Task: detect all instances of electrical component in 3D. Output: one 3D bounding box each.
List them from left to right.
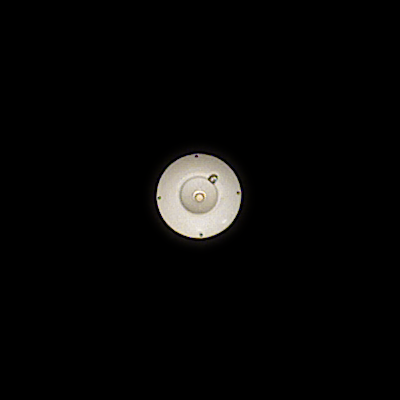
[{"bbox_3d":[0.000,0.000,0.634,0.048,0.048,0.062,0,-6,0],"label":"electrical component"}]
